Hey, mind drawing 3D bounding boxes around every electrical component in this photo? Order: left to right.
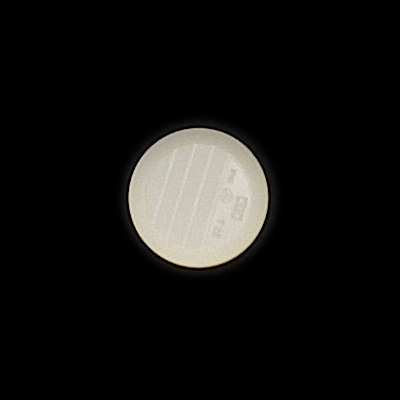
[{"bbox_3d":[0.000,0.000,0.631,0.080,0.080,0.050,0,-6,0],"label":"electrical component"}]
